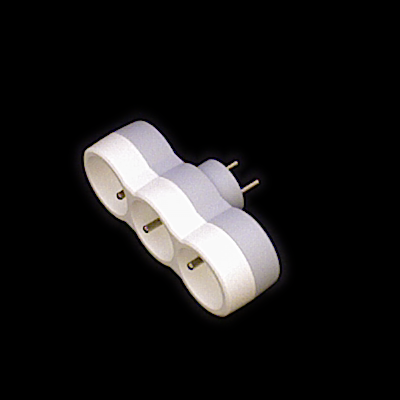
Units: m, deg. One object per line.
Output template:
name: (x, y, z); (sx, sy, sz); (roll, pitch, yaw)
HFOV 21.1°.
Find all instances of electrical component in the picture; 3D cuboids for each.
electrical component: (0.000, 0.000, 0.633); (0.074, 0.052, 0.137); (-33, 59, -25)
